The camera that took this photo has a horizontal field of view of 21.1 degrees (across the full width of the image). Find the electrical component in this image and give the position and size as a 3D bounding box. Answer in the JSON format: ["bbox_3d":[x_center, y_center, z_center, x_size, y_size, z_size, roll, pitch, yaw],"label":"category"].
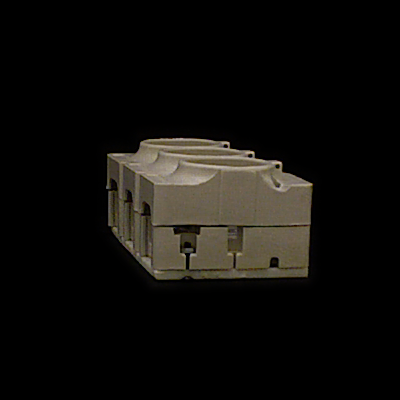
[{"bbox_3d":[0.000,0.000,0.652,0.089,0.062,0.148,-1,10,-15],"label":"electrical component"}]
